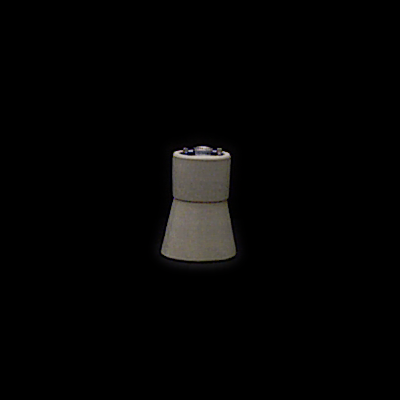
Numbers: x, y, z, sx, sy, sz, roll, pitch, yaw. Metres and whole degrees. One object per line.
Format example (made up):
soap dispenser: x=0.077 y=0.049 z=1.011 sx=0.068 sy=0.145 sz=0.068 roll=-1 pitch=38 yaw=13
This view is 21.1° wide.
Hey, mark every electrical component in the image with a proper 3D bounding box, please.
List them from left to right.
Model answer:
electrical component: x=0.000 y=0.000 z=0.642 sx=0.044 sy=0.066 sz=0.044 roll=2 pitch=12 yaw=0
